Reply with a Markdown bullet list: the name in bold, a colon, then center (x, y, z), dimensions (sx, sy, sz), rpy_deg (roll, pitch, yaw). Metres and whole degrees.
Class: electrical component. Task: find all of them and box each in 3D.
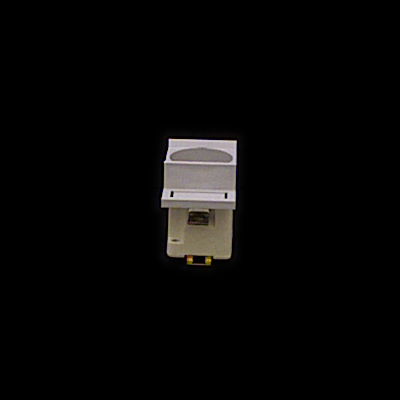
- **electrical component**: center (0.000, 0.000, 0.640), dimensions (0.042, 0.064, 0.079), rpy_deg (1, 21, 2)
